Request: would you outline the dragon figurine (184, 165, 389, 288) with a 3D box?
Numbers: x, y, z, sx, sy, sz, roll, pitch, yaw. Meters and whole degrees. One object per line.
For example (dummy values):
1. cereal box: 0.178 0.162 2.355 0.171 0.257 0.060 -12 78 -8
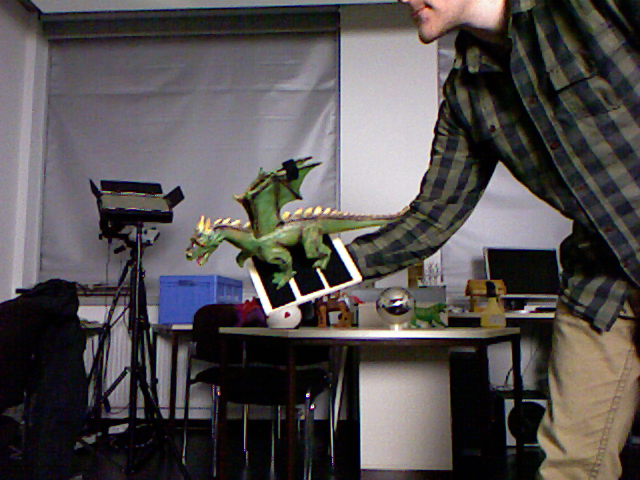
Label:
1. dragon figurine: -0.055 -0.042 0.967 0.413 0.125 0.237 -24 -35 -12
